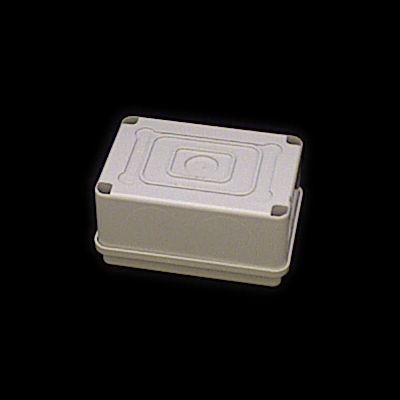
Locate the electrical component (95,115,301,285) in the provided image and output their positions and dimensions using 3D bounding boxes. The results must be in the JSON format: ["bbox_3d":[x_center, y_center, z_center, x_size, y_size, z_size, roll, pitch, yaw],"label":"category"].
[{"bbox_3d":[0.000,0.000,0.632,0.113,0.057,0.077,7,42,8],"label":"electrical component"}]
